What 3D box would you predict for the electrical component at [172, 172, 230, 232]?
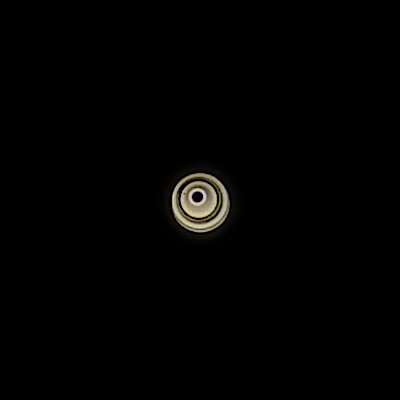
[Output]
[{"bbox_3d":[0.000,0.000,0.637,0.035,0.035,0.061,0,-5,2],"label":"electrical component"}]
